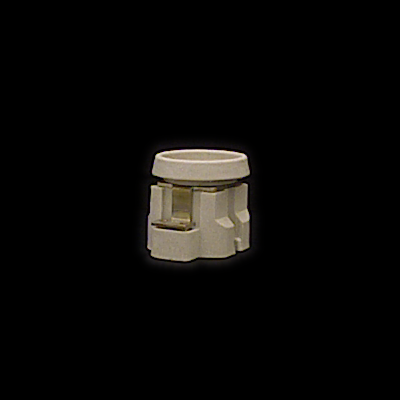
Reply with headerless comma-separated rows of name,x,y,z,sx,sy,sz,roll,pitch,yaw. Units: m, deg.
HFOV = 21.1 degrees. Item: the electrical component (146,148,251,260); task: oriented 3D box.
electrical component,0.000,0.000,0.642,0.057,0.057,0.078,7,12,26
